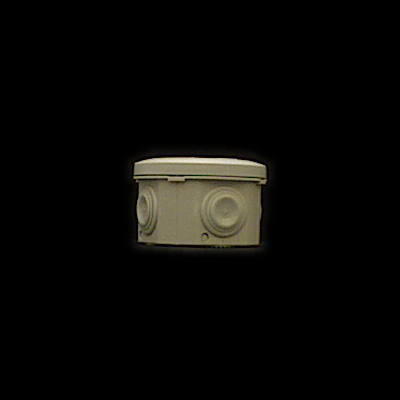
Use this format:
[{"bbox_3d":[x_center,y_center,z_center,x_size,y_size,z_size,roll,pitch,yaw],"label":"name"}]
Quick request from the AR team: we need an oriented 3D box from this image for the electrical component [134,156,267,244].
[{"bbox_3d":[0.000,0.000,0.647,0.080,0.051,0.080,1,0,0],"label":"electrical component"}]
